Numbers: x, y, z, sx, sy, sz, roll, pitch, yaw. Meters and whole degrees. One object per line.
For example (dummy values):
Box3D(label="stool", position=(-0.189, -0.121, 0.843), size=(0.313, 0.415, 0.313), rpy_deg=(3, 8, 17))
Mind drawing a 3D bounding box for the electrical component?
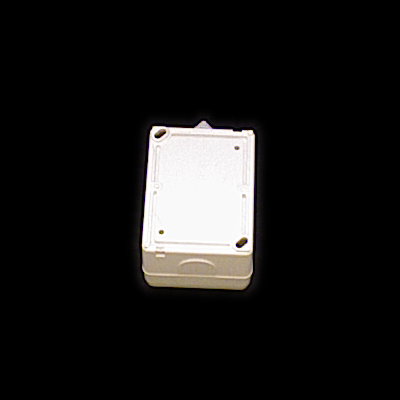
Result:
Box3D(label="electrical component", position=(0.000, 0.000, 0.628), size=(0.062, 0.096, 0.061), rpy_deg=(2, -28, 1))
